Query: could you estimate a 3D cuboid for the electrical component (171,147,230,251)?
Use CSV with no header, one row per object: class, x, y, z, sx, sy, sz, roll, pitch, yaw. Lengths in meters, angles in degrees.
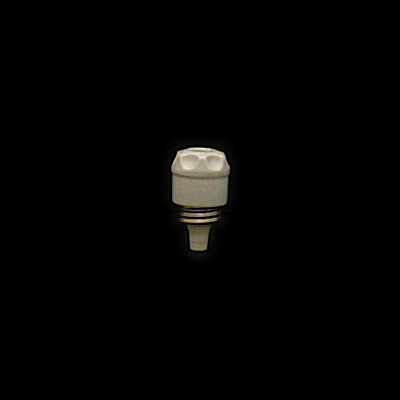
electrical component,0.000,0.000,0.652,0.035,0.062,0.035,1,12,0
